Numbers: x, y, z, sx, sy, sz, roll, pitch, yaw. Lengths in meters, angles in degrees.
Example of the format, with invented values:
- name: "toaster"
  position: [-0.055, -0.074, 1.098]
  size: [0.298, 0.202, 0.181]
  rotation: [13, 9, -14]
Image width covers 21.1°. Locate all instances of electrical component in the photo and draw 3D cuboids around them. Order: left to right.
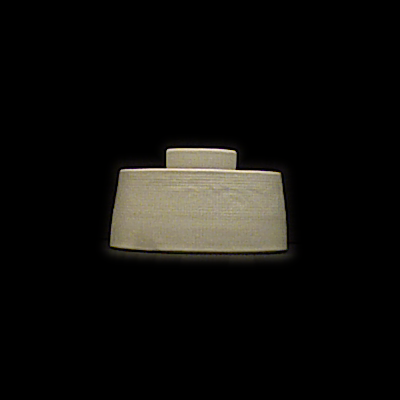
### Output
- name: "electrical component"
  position: [0.000, 0.000, 0.654]
  size: [0.108, 0.060, 0.108]
  rotation: [1, 1, 1]
